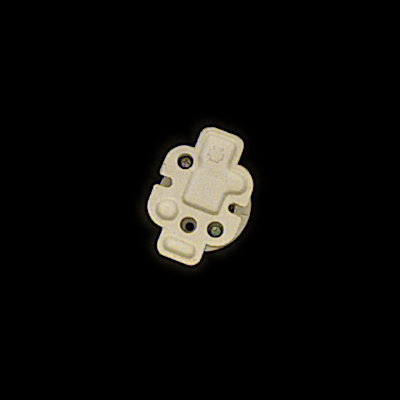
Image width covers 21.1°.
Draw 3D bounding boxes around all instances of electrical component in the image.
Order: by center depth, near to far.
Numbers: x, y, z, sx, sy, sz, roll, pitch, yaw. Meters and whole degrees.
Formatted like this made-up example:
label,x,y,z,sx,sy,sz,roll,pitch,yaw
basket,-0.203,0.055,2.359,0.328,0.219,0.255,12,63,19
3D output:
label,x,y,z,sx,sy,sz,roll,pitch,yaw
electrical component,0.000,0.000,0.637,0.058,0.079,0.056,20,-6,3
